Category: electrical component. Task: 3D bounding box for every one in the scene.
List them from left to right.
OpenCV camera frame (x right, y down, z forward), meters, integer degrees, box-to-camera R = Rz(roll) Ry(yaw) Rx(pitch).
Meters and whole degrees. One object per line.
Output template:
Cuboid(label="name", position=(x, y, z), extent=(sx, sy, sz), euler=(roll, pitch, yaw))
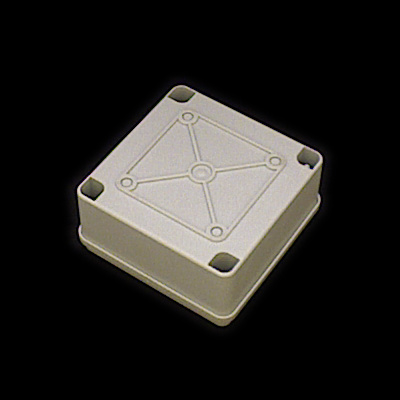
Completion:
Cuboid(label="electrical component", position=(0.000, 0.000, 0.630), extent=(0.108, 0.108, 0.056), euler=(29, -33, 19))
